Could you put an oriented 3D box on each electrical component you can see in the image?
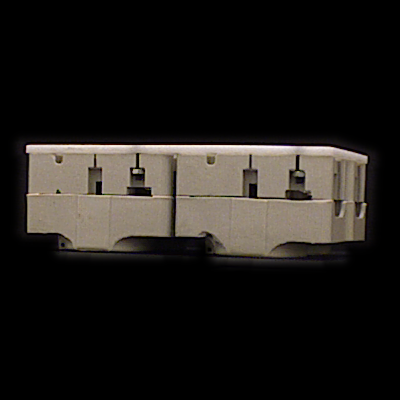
[{"bbox_3d":[0.000,0.000,0.650,0.186,0.060,0.106,1,0,19],"label":"electrical component"}]
